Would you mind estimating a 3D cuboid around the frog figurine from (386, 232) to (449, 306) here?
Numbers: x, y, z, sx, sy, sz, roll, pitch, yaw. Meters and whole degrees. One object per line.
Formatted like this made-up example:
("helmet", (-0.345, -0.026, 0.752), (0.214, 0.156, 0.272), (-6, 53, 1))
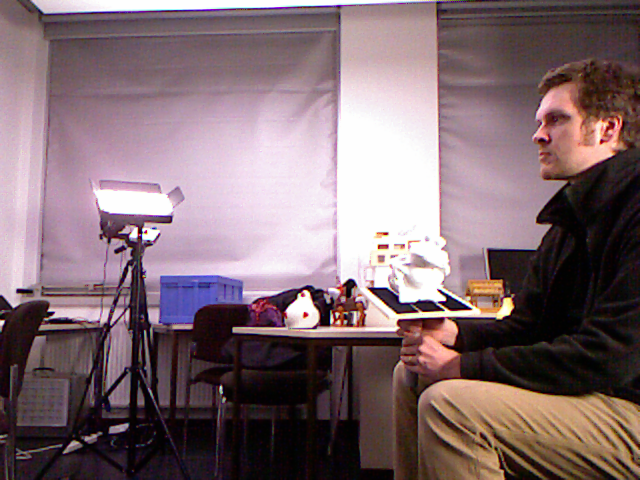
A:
("frog figurine", (0.219, 0.057, 1.151), (0.137, 0.158, 0.124), (4, 11, 5))
